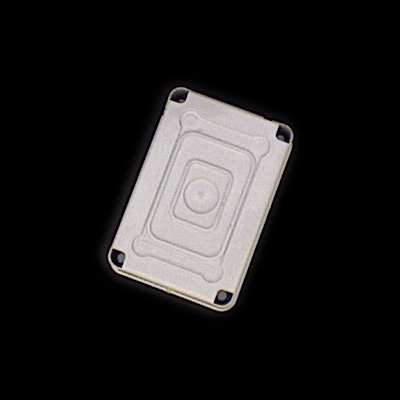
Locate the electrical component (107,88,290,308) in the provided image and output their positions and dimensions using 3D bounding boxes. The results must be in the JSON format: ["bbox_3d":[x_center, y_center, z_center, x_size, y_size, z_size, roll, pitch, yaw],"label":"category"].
[{"bbox_3d":[0.000,0.000,0.628,0.078,0.113,0.057,20,-6,2],"label":"electrical component"}]
